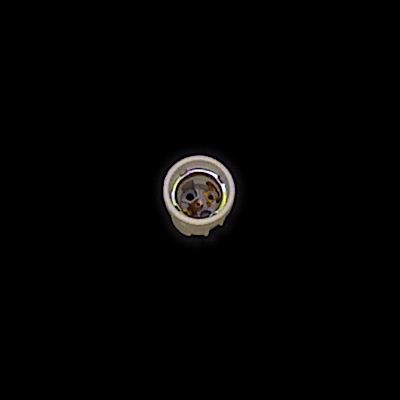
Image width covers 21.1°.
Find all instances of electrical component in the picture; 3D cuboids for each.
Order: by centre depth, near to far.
[{"bbox_3d":[0.000,0.000,0.626,0.040,0.040,0.046,0,-17,-1],"label":"electrical component"}]
